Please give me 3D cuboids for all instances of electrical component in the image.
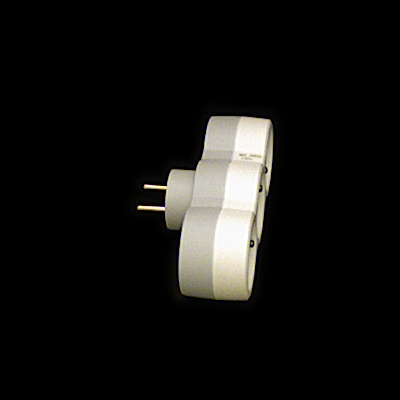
[{"bbox_3d":[0.000,0.000,0.642,0.073,0.053,0.137,5,43,7],"label":"electrical component"}]
